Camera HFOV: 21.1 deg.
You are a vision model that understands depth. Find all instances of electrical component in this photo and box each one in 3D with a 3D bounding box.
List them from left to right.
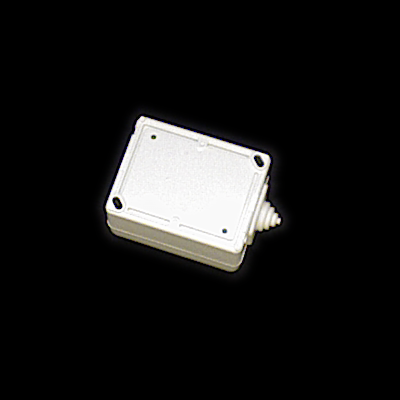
[{"bbox_3d":[0.000,0.001,0.626,0.096,0.062,0.060,17,-17,5],"label":"electrical component"}]
